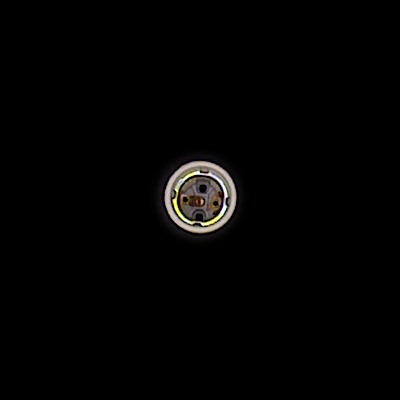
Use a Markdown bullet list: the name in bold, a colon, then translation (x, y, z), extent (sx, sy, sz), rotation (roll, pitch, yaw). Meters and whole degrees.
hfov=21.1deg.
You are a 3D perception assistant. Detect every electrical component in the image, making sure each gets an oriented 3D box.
- **electrical component**: translation (0.000, 0.000, 0.627), extent (0.040, 0.040, 0.046), rotation (0, -6, 0)
